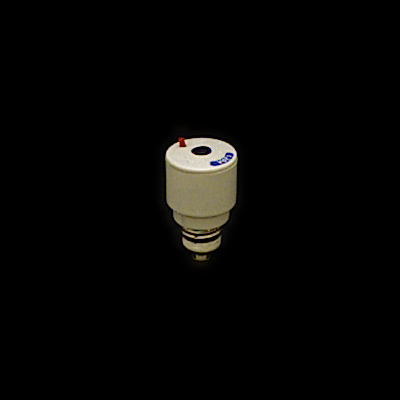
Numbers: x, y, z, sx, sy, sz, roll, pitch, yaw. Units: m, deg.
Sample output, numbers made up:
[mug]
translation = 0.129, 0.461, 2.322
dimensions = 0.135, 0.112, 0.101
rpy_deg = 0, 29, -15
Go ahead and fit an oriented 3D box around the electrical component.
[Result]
[electrical component]
translation = 0.000, 0.000, 0.631
dimensions = 0.040, 0.079, 0.039
rpy_deg = 0, 31, 0
